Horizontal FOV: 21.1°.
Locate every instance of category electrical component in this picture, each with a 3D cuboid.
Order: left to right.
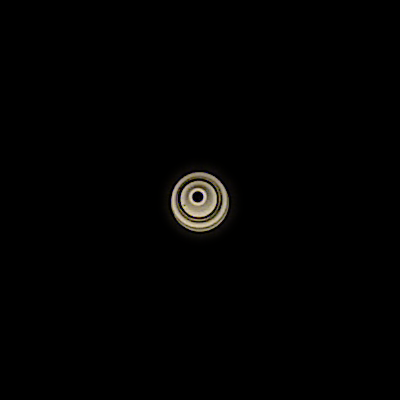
[{"bbox_3d":[0.000,0.000,0.638,0.035,0.035,0.061,0,-4,1],"label":"electrical component"}]
